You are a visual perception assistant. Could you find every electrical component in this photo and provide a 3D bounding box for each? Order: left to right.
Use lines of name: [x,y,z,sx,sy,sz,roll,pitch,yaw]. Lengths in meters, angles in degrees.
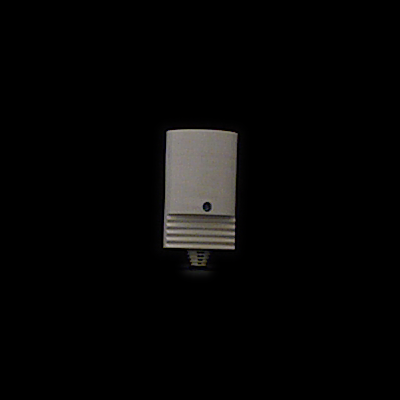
electrical component: [0.000,0.000,0.652,0.043,0.081,0.043,2,1,0]
